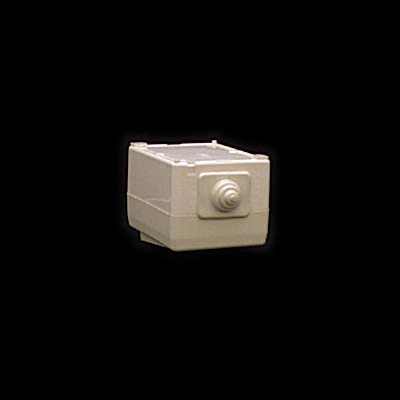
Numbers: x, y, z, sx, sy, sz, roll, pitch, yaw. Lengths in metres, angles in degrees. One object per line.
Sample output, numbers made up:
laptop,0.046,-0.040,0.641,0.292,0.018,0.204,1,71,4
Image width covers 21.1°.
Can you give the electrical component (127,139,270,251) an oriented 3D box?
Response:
electrical component,0.000,0.000,0.642,0.062,0.061,0.095,-4,12,-23
